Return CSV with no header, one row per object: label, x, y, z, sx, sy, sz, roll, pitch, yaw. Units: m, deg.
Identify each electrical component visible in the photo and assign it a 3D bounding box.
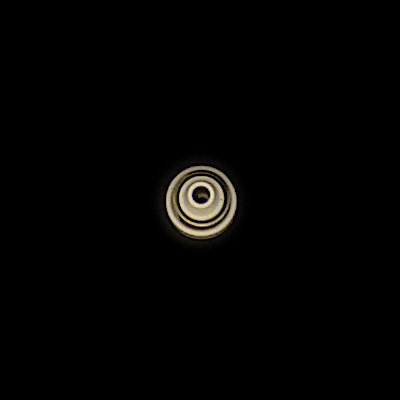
electrical component,0.000,0.000,0.635,0.043,0.043,0.062,0,-6,0
